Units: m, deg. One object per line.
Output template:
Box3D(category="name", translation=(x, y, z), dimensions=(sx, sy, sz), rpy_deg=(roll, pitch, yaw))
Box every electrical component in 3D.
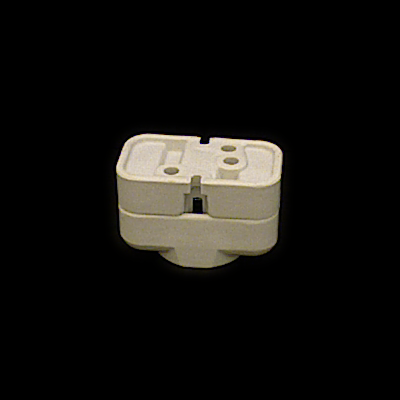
Box3D(category="electrical component", translation=(0.000, 0.000, 0.643), dimensions=(0.095, 0.060, 0.053), rpy_deg=(3, 32, 4))
